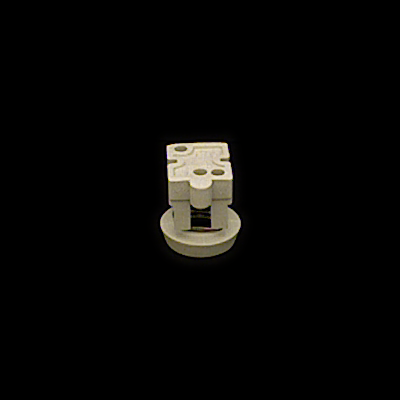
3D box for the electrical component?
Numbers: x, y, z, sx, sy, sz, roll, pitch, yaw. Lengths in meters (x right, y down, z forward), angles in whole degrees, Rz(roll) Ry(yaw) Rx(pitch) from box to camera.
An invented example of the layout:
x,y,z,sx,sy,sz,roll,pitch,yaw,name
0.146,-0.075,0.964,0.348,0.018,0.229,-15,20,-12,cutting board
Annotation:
x,y,z,sx,sy,sz,roll,pitch,yaw,name
0.000,0.000,0.643,0.048,0.056,0.065,-2,32,-2,electrical component
